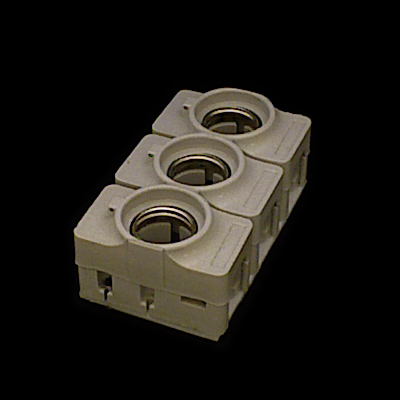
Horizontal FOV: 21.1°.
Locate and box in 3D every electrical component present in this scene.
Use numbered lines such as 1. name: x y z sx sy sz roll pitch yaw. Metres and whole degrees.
1. electrical component: 0.000 0.000 0.636 0.089 0.063 0.148 15 43 16
